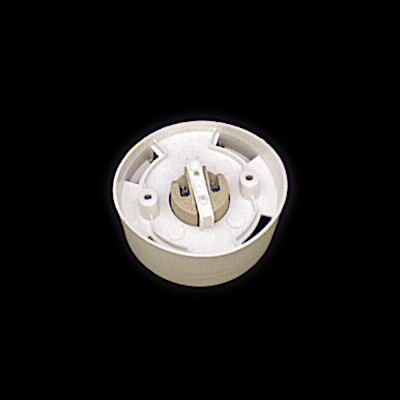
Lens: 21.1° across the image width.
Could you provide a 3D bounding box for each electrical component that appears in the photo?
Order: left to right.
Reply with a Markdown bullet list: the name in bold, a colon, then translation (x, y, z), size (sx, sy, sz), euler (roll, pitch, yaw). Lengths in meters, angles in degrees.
- **electrical component**: translation (0.000, 0.000, 0.624), size (0.099, 0.099, 0.064), euler (0, -27, -1)
